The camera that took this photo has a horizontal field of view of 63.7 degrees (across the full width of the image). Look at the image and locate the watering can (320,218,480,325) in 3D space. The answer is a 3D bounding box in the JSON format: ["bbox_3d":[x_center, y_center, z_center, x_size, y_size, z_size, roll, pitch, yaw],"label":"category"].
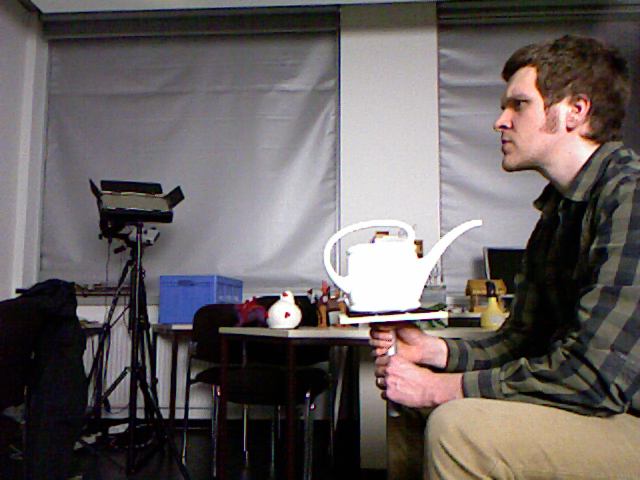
[{"bbox_3d":[0.175,0.064,1.085,0.348,0.224,0.104,-4,0,-4],"label":"watering can"}]
